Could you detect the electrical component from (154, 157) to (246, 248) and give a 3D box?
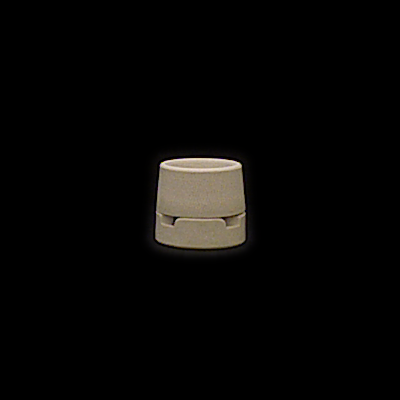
[{"bbox_3d":[0.000,0.000,0.646,0.055,0.047,0.055,0,10,0],"label":"electrical component"}]
